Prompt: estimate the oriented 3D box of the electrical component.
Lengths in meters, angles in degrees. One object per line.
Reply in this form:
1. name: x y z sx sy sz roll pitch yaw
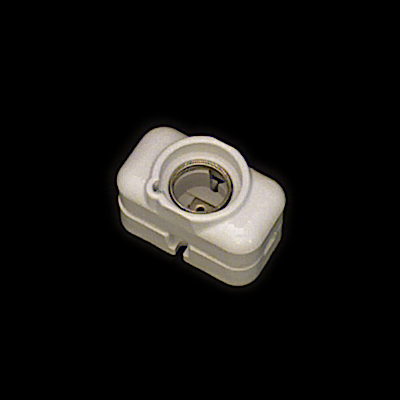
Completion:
1. electrical component: 0.000 0.000 0.633 0.095 0.054 0.059 27 -24 13
